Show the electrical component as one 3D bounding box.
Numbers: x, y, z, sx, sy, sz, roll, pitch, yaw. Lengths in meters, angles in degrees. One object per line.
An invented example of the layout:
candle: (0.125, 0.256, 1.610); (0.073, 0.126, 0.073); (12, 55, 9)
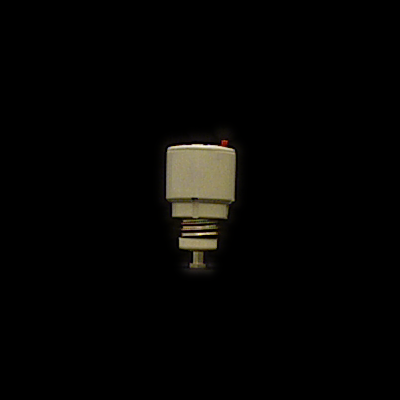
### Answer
electrical component: (0.000, 0.000, 0.648); (0.040, 0.078, 0.040); (2, 1, 0)
